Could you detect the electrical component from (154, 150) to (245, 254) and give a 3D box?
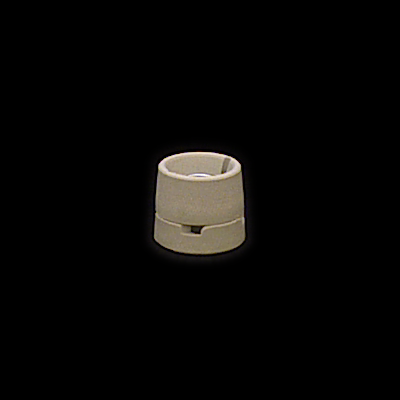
[{"bbox_3d":[0.000,0.000,0.640,0.055,0.047,0.055,0,21,0],"label":"electrical component"}]
